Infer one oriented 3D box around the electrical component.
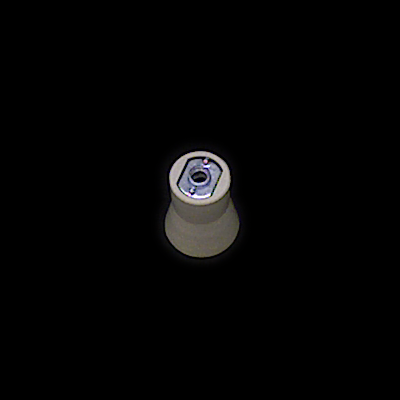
[{"bbox_3d":[0.000,0.000,0.625,0.044,0.044,0.065,0,-27,1],"label":"electrical component"}]
